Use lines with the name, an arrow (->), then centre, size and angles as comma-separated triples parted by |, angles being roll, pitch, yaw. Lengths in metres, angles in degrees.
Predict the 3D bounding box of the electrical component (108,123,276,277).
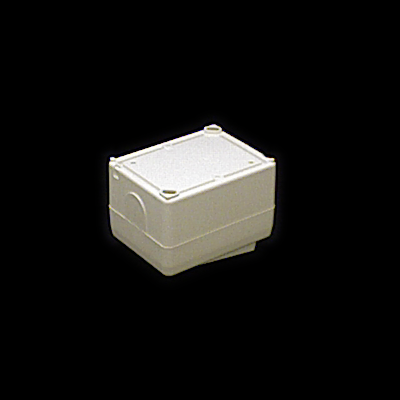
electrical component -> 0.001, 0.000, 0.640 | 0.096, 0.062, 0.061 | -21, 37, -31
